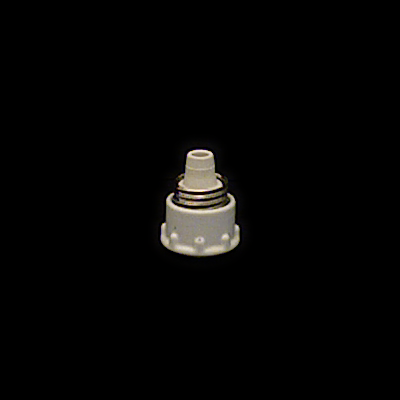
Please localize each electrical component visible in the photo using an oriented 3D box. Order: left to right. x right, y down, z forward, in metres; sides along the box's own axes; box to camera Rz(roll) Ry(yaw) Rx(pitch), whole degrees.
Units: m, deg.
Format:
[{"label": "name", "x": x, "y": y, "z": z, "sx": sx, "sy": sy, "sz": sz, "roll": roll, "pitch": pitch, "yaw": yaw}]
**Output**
[{"label": "electrical component", "x": 0.000, "y": 0.000, "z": 0.644, "sx": 0.048, "sy": 0.063, "sz": 0.047, "roll": 0, "pitch": 23, "yaw": 0}]
